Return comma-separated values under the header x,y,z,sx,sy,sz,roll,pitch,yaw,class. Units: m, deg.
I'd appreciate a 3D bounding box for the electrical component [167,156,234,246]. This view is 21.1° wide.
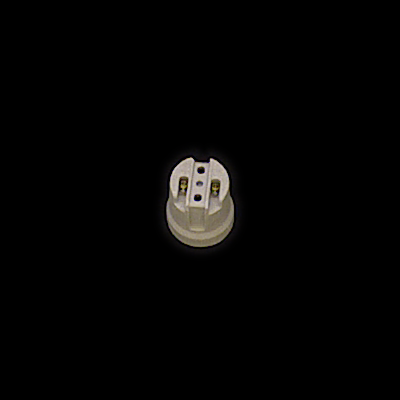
x,y,z,sx,sy,sz,roll,pitch,yaw,class
0.000,0.000,0.633,0.040,0.040,0.046,0,-27,0,electrical component
